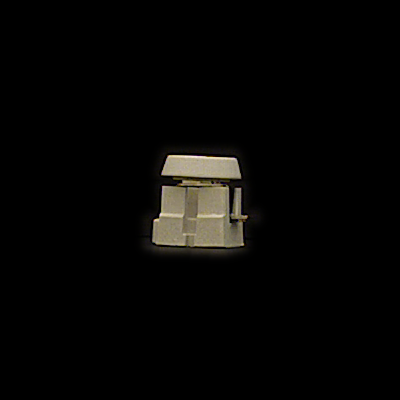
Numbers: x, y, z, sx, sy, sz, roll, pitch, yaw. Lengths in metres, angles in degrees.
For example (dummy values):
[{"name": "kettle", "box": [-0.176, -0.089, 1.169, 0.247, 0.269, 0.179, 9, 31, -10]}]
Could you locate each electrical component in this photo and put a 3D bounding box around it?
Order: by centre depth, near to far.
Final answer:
[{"name": "electrical component", "box": [0.000, 0.000, 0.657, 0.066, 0.055, 0.048, 2, 4, 20]}]
